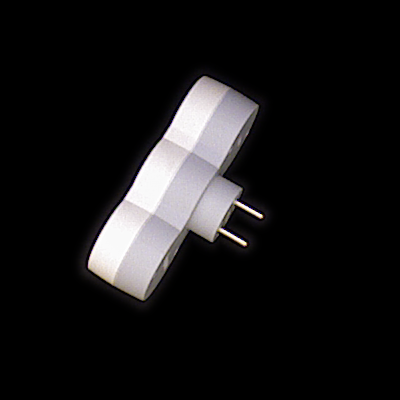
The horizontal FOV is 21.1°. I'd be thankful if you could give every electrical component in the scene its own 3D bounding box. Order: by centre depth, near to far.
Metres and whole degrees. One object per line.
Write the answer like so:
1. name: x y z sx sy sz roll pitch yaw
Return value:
1. electrical component: 0.000 0.000 0.631 0.074 0.138 0.052 29 -16 7
